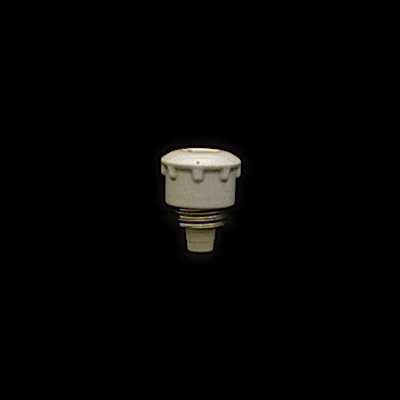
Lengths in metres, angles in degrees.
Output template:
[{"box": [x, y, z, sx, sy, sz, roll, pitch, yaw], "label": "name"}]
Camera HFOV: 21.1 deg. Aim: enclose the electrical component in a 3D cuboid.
[{"box": [0.000, 0.000, 0.649, 0.048, 0.062, 0.048, 1, 11, 0], "label": "electrical component"}]
